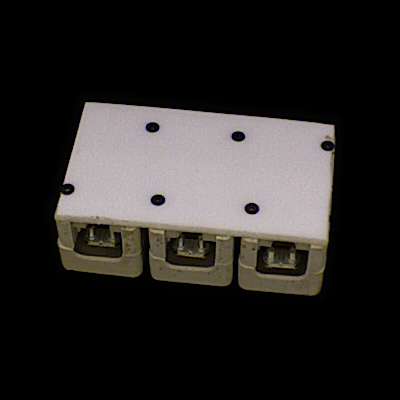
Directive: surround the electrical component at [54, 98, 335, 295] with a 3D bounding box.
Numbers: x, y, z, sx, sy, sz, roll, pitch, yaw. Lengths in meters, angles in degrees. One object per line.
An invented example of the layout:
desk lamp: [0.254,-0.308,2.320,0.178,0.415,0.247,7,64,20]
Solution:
electrical component: [0.000,0.000,0.632,0.150,0.088,0.062,6,-38,4]
